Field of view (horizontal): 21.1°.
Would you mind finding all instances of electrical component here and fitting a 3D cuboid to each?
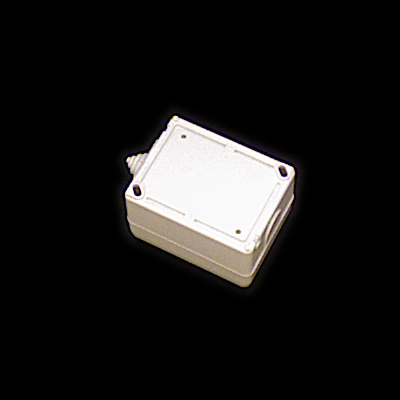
[{"bbox_3d":[0.000,0.000,0.629,0.096,0.062,0.061,24,-25,13],"label":"electrical component"}]
